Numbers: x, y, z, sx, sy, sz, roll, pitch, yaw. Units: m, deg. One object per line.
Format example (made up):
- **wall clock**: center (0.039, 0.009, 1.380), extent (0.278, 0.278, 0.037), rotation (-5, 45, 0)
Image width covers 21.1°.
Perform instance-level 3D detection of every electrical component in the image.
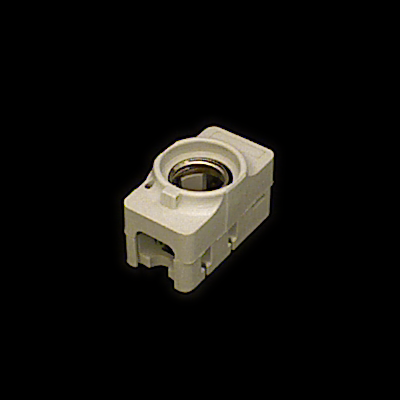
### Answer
- **electrical component**: center (0.000, 0.000, 0.639), extent (0.049, 0.056, 0.090), rotation (26, 48, 25)
